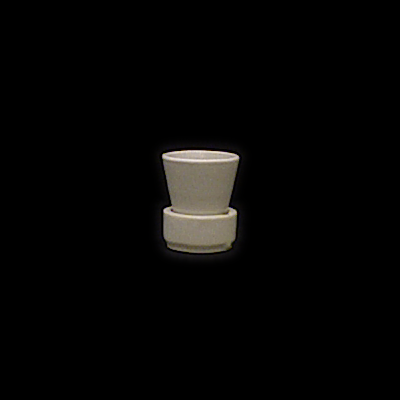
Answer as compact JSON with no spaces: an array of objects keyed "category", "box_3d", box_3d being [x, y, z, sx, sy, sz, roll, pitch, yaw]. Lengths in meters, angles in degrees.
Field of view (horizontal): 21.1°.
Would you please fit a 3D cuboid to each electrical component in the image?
[{"category":"electrical component","box_3d":[0.000,0.000,0.643,0.045,0.055,0.044,1,11,0]}]
